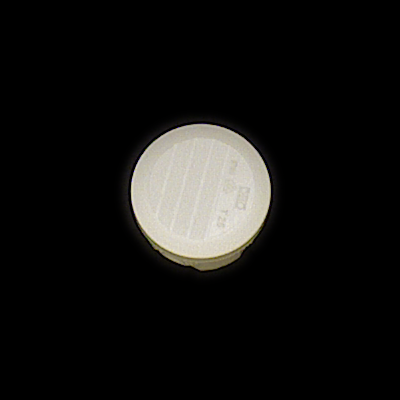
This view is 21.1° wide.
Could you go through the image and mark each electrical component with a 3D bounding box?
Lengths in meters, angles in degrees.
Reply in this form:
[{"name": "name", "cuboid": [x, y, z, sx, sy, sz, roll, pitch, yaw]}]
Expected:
[{"name": "electrical component", "cuboid": [0.000, 0.000, 0.629, 0.080, 0.080, 0.050, 0, -17, 0]}]
